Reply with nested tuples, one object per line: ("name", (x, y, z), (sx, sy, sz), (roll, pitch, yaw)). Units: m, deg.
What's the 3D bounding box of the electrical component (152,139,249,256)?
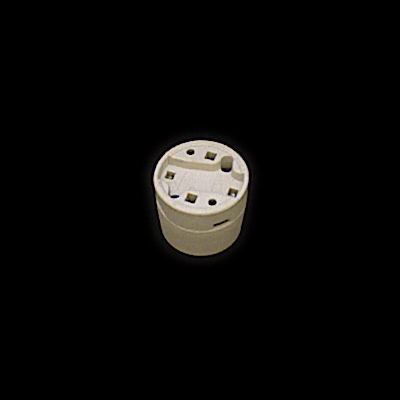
("electrical component", (0.000, 0.000, 0.634), (0.055, 0.055, 0.047), (0, -38, -1))
